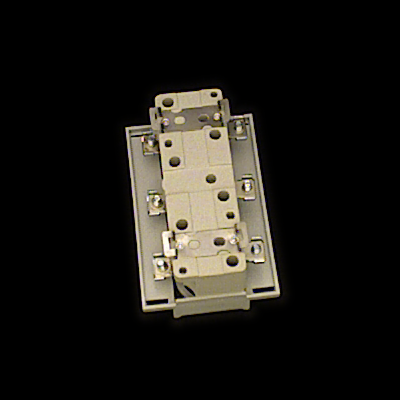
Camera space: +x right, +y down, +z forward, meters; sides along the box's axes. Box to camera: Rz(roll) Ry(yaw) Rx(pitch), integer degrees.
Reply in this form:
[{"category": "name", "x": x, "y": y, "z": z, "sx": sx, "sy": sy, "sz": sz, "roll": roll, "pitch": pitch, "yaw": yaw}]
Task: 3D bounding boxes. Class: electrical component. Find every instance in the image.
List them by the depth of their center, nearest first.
[{"category": "electrical component", "x": 0.000, "y": 0.000, "z": 0.633, "sx": 0.079, "sy": 0.121, "sz": 0.063, "roll": -6, "pitch": -27, "yaw": -3}]
